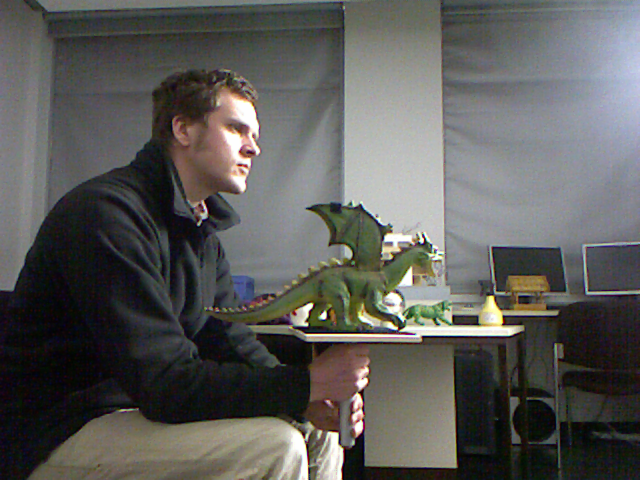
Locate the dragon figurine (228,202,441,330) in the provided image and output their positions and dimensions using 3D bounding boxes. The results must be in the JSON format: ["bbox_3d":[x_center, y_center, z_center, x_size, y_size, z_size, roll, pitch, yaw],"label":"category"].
[{"bbox_3d":[0.040,0.049,0.974,0.410,0.243,0.122,3,-2,-11],"label":"dragon figurine"}]
